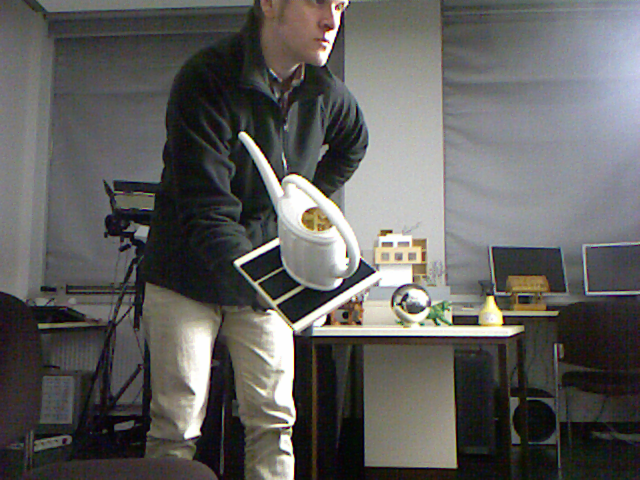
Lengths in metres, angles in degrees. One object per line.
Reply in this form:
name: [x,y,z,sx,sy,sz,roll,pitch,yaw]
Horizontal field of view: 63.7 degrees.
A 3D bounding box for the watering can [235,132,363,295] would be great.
watering can: [-0.044,-0.038,0.929,0.105,0.219,0.353,-28,55,-26]
